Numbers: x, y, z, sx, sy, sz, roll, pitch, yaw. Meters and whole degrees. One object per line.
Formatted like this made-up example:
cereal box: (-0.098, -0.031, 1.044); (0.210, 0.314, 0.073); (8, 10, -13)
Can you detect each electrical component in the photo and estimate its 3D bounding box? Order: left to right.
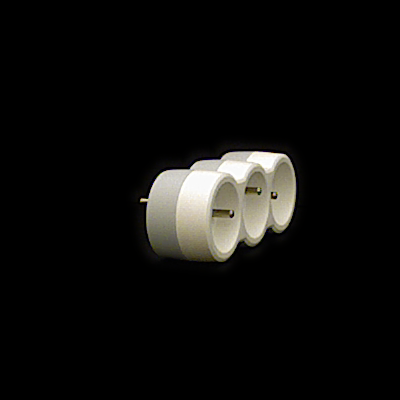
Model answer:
electrical component: (0.000, 0.000, 0.654); (0.073, 0.052, 0.138); (5, 12, 25)
